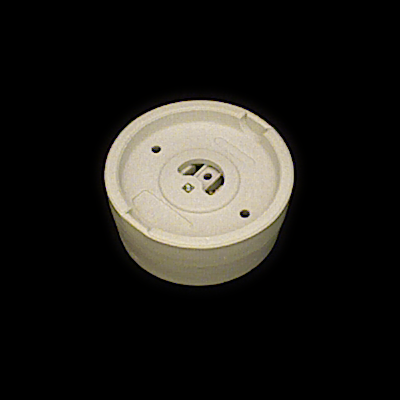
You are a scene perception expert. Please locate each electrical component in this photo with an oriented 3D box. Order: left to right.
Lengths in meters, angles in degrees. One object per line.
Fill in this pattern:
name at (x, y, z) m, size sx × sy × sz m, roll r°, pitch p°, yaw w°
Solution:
electrical component at (0.000, 0.000, 0.633) m, size 0.108 × 0.107 × 0.060 m, roll 0°, pitch -37°, yaw -1°
